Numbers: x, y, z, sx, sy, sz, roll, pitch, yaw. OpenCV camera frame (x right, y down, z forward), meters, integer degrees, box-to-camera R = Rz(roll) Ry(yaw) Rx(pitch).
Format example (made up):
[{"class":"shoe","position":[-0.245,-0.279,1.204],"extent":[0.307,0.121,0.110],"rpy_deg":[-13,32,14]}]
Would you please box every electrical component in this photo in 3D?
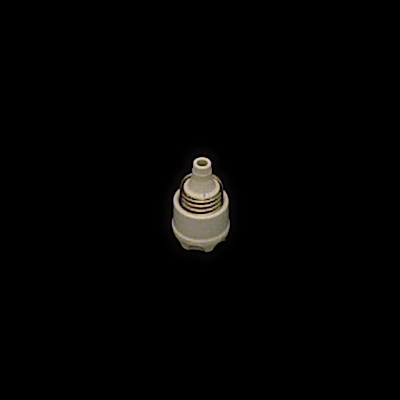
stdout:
[{"class":"electrical component","position":[0.000,0.000,0.644],"extent":[0.035,0.062,0.034],"rpy_deg":[1,44,-1]}]
